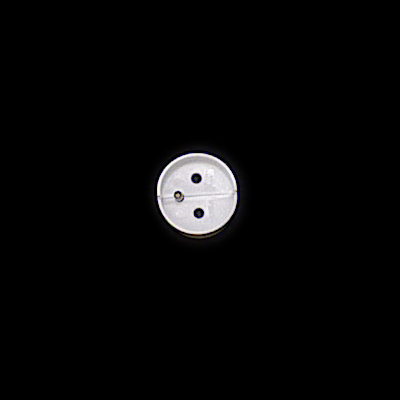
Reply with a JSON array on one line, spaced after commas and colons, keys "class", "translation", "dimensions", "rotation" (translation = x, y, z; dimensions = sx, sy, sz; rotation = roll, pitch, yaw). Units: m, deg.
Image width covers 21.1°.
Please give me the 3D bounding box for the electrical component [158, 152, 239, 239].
[{"class": "electrical component", "translation": [0.000, 0.000, 0.615], "dimensions": [0.043, 0.043, 0.080], "rotation": [0, -7, 1]}]
